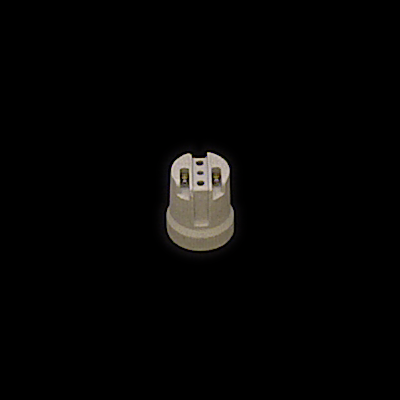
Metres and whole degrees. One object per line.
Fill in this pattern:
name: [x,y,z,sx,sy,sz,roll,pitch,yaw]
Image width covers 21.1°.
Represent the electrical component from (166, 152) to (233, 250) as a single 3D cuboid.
electrical component: [0.000,0.000,0.635,0.040,0.046,0.040,0,42,0]
